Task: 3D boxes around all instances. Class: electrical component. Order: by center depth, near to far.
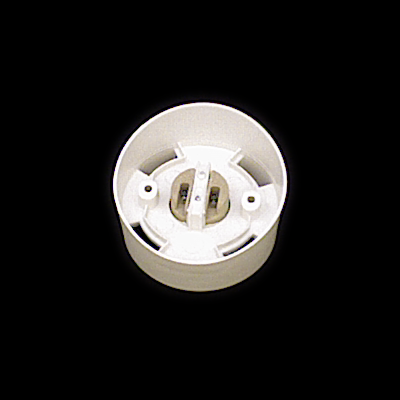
[{"bbox_3d":[0.000,0.000,0.626,0.099,0.098,0.064,0,-38,0],"label":"electrical component"}]
